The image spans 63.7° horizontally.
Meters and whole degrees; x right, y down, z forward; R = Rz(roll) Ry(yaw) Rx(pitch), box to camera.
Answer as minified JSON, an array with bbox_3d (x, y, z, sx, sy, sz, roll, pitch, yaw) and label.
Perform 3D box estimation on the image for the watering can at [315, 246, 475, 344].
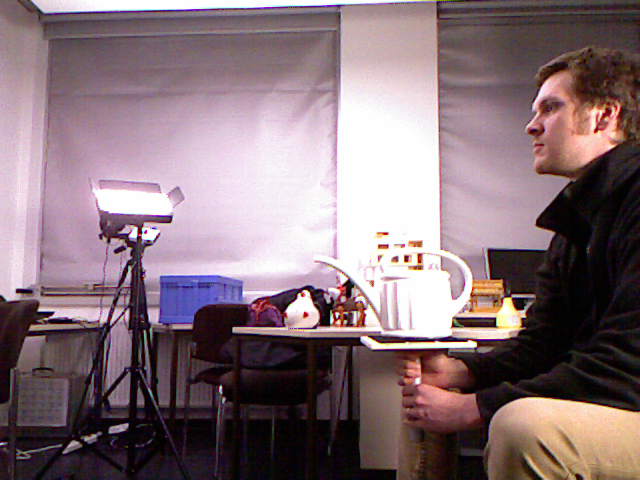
[{"bbox_3d":[0.162,0.125,1.106,0.348,0.225,0.104,0,-2,-4],"label":"watering can"}]
